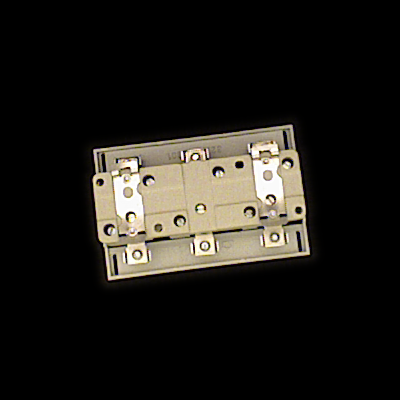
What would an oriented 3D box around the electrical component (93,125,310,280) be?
[{"bbox_3d":[0.000,0.000,0.635,0.121,0.079,0.063,-7,-7,-1],"label":"electrical component"}]
